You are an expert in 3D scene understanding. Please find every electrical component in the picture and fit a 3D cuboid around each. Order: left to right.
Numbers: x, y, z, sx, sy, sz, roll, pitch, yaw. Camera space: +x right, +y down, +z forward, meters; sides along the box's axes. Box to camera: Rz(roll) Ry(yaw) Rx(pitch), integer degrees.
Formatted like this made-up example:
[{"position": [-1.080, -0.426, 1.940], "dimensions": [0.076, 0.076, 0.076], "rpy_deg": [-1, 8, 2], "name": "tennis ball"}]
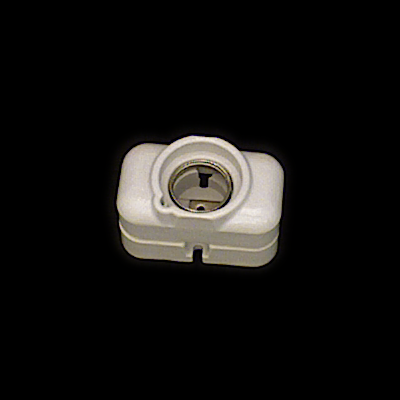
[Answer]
[{"position": [0.000, 0.000, 0.633], "dimensions": [0.095, 0.054, 0.059], "rpy_deg": [4, -27, 2], "name": "electrical component"}]
